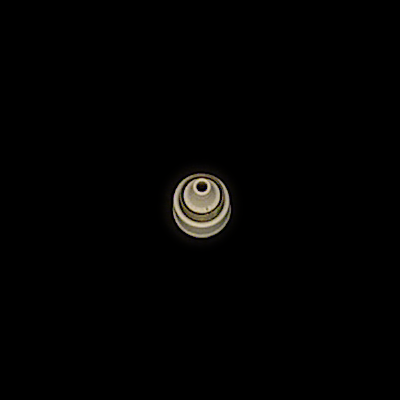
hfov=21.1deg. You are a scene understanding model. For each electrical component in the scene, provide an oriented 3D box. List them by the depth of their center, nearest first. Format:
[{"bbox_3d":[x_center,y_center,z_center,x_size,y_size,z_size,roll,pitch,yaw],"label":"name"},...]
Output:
[{"bbox_3d":[0.000,0.000,0.637,0.035,0.035,0.061,0,-15,0],"label":"electrical component"}]
